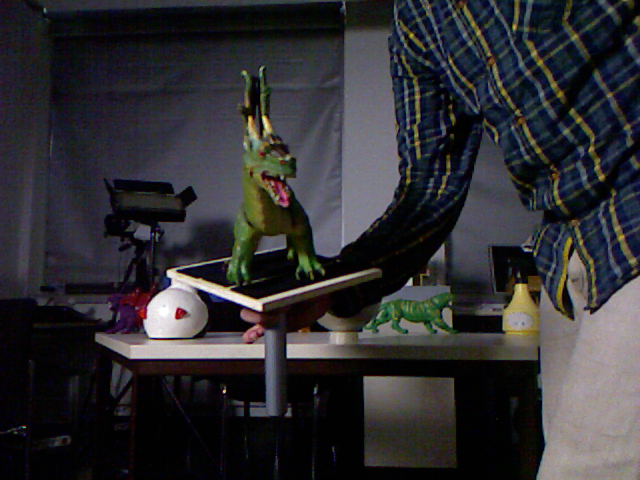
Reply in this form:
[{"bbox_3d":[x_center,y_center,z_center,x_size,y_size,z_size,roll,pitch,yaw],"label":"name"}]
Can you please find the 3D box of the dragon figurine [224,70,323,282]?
[{"bbox_3d":[-0.063,-0.092,0.662,0.122,0.240,0.416,-2,18,-7],"label":"dragon figurine"}]
